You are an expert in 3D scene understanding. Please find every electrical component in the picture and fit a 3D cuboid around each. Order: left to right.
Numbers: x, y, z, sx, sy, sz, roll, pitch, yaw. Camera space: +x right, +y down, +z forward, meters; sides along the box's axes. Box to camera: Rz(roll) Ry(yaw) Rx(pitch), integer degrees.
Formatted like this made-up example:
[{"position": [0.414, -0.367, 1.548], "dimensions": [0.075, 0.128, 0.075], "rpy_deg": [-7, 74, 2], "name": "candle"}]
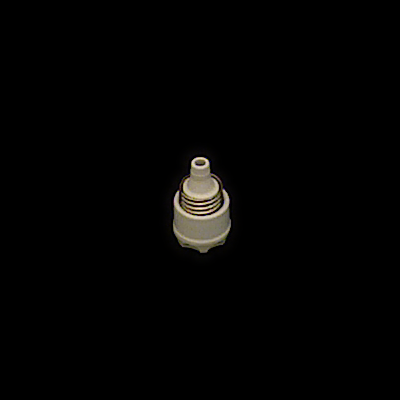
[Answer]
[{"position": [0.000, 0.000, 0.642], "dimensions": [0.035, 0.062, 0.035], "rpy_deg": [-1, 43, 1], "name": "electrical component"}]
